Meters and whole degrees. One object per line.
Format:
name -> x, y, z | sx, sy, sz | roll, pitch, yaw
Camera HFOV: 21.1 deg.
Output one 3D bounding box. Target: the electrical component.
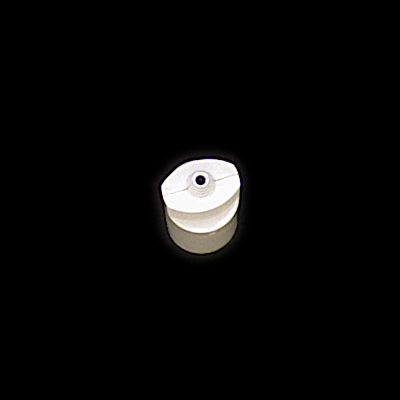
electrical component -> 0.000, 0.000, 0.616 | 0.043, 0.043, 0.080 | 0, -17, 1
